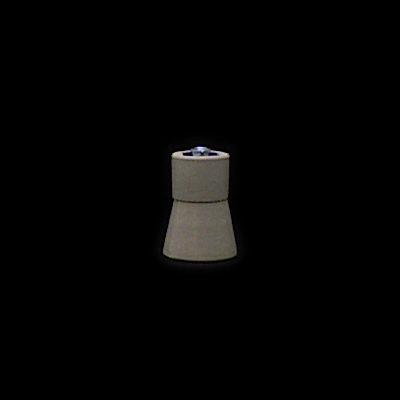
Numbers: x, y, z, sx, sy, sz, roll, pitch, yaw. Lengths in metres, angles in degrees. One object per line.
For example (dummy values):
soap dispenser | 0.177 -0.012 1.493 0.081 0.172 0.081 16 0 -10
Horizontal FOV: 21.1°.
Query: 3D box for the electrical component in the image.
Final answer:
electrical component | 0.000 0.000 0.644 0.044 0.066 0.044 0 11 0
